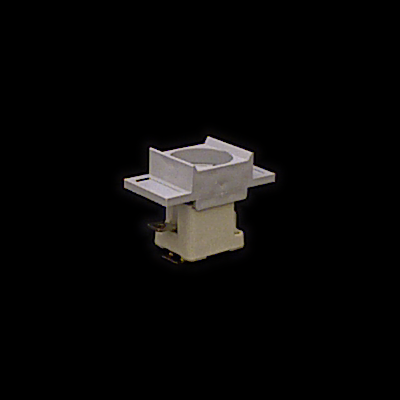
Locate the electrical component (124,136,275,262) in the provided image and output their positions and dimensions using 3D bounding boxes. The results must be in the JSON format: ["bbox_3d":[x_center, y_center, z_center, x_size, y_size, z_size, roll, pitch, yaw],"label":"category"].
[{"bbox_3d":[0.000,0.000,0.636,0.081,0.064,0.041,-14,27,-36],"label":"electrical component"}]
